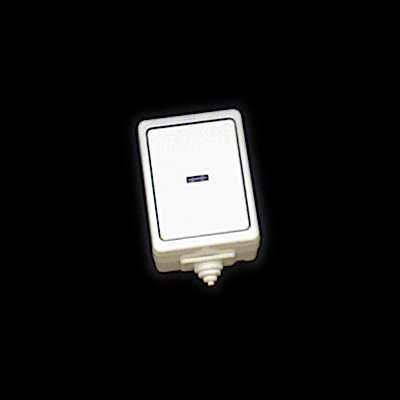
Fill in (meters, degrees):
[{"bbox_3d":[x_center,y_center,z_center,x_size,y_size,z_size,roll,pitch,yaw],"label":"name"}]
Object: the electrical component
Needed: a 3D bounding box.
[{"bbox_3d":[0.000,0.000,0.625,0.062,0.097,0.060,-8,-17,-2],"label":"electrical component"}]
